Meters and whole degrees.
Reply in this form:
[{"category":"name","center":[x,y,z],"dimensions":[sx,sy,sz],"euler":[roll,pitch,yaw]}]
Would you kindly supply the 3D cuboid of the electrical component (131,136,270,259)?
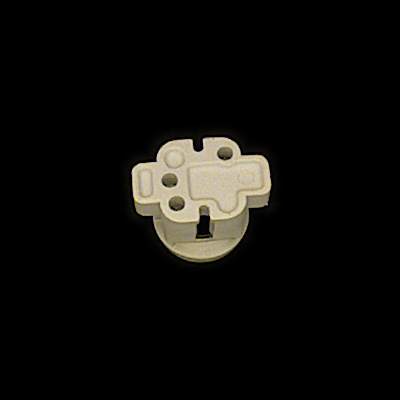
[{"category":"electrical component","center":[0.000,0.000,0.636],"dimensions":[0.079,0.058,0.057],"euler":[-5,-27,-4]}]
